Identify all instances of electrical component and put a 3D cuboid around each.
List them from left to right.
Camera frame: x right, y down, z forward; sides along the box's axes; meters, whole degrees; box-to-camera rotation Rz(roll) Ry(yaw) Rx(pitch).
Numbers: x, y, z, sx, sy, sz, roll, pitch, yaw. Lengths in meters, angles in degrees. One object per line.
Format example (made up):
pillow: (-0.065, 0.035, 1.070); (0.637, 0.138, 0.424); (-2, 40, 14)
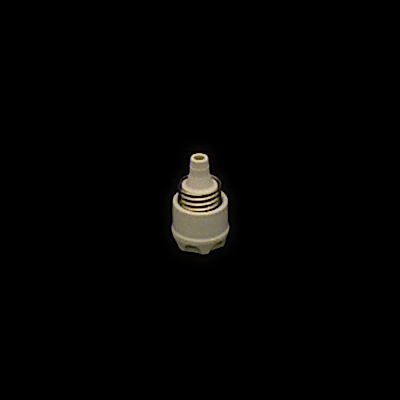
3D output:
electrical component: (0.000, 0.000, 0.646); (0.035, 0.062, 0.034); (-1, 33, 1)
